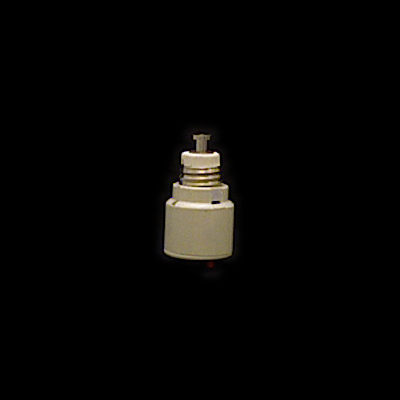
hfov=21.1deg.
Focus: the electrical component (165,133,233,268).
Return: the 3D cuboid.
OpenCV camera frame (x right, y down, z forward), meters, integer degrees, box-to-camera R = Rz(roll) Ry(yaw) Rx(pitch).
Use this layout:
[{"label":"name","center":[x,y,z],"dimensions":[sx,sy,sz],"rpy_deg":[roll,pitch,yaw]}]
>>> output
[{"label":"electrical component","center":[0.000,0.000,0.641],"dimensions":[0.040,0.079,0.040],"rpy_deg":[2,10,0]}]
